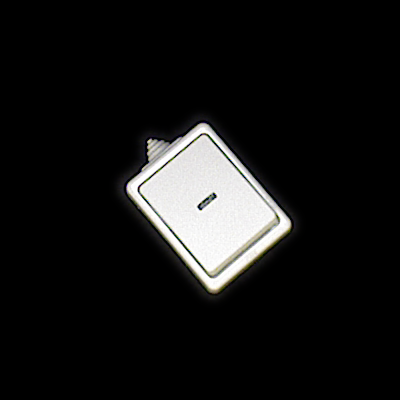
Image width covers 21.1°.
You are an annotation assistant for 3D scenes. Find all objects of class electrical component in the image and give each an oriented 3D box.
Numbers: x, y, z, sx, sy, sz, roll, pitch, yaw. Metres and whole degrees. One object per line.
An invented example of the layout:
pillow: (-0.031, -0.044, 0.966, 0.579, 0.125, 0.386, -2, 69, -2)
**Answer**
electrical component: (0.000, 0.000, 0.627, 0.062, 0.096, 0.061, -40, -6, -4)
